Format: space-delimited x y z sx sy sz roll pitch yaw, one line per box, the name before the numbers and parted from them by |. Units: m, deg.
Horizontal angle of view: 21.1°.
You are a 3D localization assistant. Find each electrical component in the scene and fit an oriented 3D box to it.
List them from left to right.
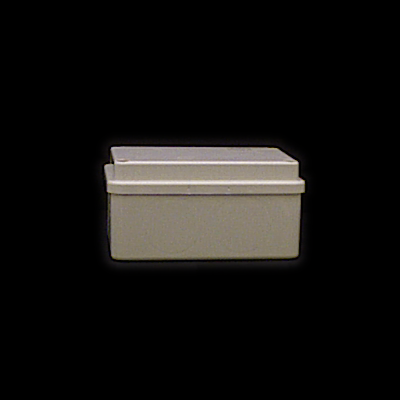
electrical component | 0.000 0.000 0.646 0.113 0.057 0.077 0 11 -7
